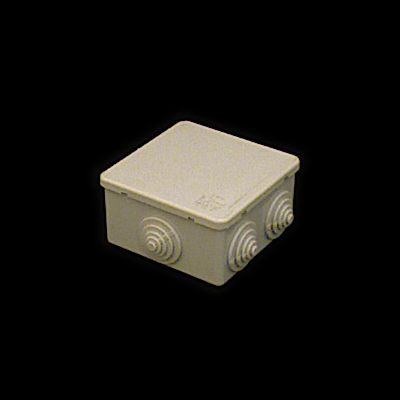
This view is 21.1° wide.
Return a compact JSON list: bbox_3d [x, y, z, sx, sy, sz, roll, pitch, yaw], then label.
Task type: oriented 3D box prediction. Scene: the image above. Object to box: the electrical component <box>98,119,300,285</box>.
[{"bbox_3d":[0.000,0.000,0.643,0.098,0.049,0.100,20,37,28],"label":"electrical component"}]
